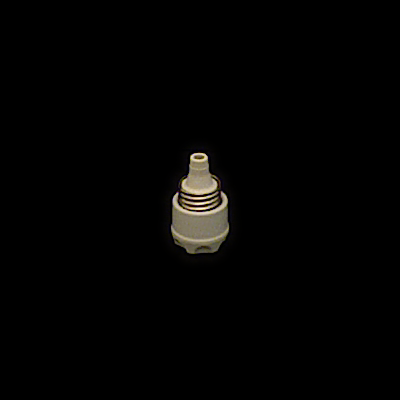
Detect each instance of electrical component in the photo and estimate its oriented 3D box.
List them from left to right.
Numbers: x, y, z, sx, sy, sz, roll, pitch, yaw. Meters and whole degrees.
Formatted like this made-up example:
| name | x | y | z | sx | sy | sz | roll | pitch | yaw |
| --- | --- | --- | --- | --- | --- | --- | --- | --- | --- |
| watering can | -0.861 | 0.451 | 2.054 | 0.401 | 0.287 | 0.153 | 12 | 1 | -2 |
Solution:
| name | x | y | z | sx | sy | sz | roll | pitch | yaw |
| --- | --- | --- | --- | --- | --- | --- | --- | --- | --- |
| electrical component | 0.000 | 0.000 | 0.645 | 0.035 | 0.062 | 0.034 | -1 | 32 | 1 |
